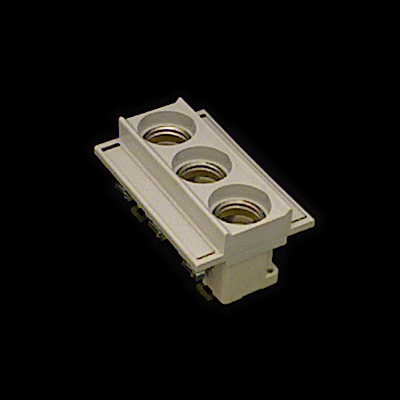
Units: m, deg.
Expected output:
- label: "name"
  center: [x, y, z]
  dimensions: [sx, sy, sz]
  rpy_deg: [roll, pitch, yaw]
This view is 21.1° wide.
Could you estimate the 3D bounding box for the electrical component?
- label: "electrical component"
  center: [0.000, 0.000, 0.643]
  dimensions: [0.079, 0.064, 0.120]
  rpy_deg: [-21, 47, -24]
